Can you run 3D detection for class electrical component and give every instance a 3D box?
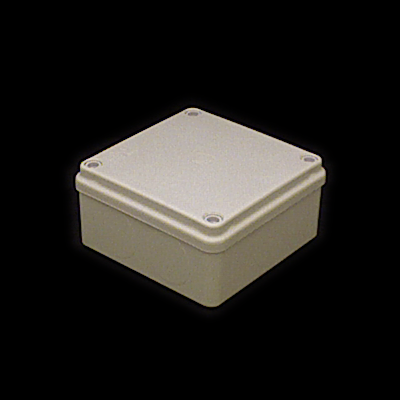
[{"bbox_3d":[0.000,0.000,0.635,0.108,0.057,0.108,25,39,32],"label":"electrical component"}]
